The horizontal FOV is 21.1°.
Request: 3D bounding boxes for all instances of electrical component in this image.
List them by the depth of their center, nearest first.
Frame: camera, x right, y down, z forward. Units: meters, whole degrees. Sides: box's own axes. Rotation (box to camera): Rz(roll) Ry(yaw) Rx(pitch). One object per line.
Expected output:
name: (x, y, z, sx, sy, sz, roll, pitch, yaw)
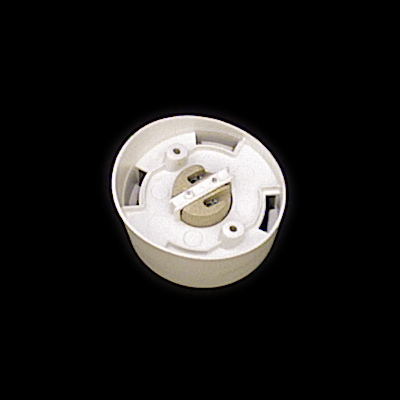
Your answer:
electrical component: (0.000, 0.000, 0.623, 0.099, 0.099, 0.064, 0, -27, 0)
